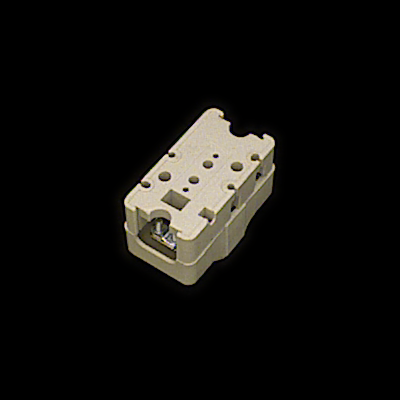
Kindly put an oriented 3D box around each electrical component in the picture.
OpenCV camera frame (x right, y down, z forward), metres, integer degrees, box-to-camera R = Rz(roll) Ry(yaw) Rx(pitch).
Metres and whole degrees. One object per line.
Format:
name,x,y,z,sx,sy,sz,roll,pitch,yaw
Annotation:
electrical component,0.000,0.000,0.637,0.050,0.090,0.056,30,-31,20
